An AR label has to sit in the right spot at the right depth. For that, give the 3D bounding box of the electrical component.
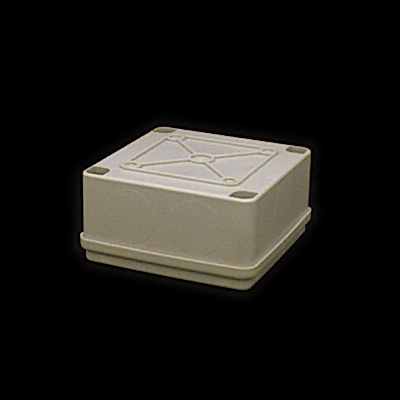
[{"bbox_3d":[0.000,0.000,0.638,0.108,0.057,0.107,10,23,22],"label":"electrical component"}]
